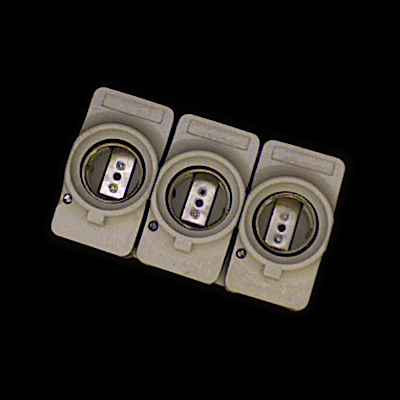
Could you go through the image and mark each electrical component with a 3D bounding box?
[{"bbox_3d":[0.000,0.000,0.632,0.150,0.089,0.061,17,-5,2],"label":"electrical component"}]
